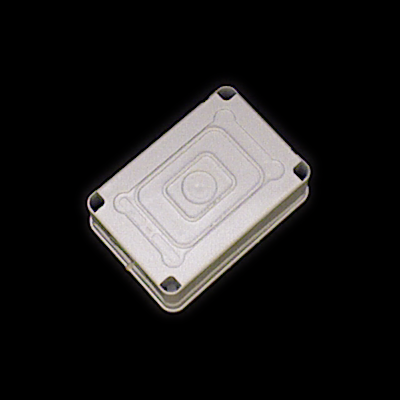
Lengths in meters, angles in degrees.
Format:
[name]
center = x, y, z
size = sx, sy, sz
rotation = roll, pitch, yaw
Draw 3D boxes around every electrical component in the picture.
[electrical component]
center = 0.000, 0.000, 0.627
size = 0.113, 0.078, 0.057
rotation = -41, -12, -11
